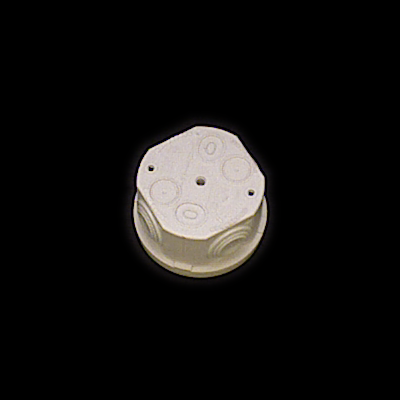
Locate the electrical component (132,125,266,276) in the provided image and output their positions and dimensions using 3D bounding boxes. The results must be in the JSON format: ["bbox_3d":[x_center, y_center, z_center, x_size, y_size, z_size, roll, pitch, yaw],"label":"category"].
[{"bbox_3d":[0.000,0.000,0.631,0.080,0.080,0.050,0,-27,-1],"label":"electrical component"}]
